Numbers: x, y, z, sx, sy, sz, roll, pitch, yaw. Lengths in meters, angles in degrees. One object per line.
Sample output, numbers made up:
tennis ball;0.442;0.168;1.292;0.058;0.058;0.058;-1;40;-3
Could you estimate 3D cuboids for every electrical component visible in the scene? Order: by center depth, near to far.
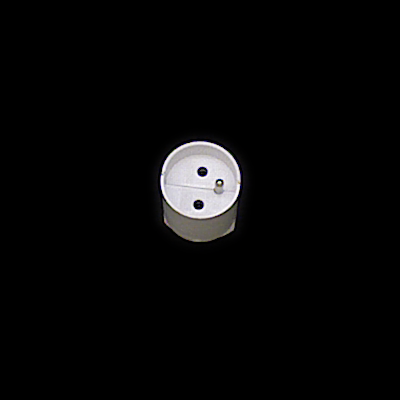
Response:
electrical component;0.000;0.000;0.616;0.043;0.043;0.080;0;-16;-1
